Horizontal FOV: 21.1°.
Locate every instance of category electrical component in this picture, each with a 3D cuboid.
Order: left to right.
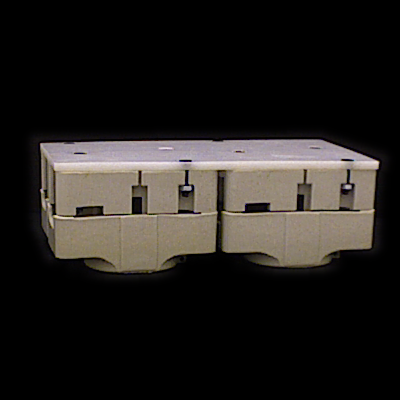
[{"bbox_3d":[0.000,0.000,0.644,0.186,0.060,0.104,-1,10,-13],"label":"electrical component"}]
